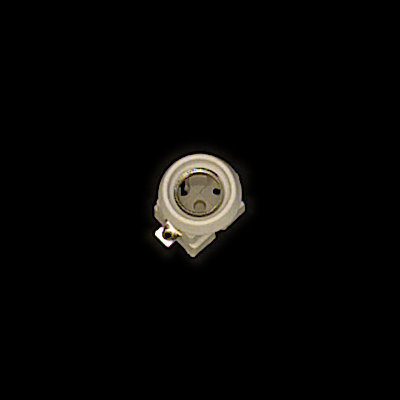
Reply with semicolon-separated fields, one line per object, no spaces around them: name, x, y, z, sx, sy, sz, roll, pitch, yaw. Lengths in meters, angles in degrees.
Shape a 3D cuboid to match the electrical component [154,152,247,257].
electrical component;0.000;0.000;0.637;0.067;0.048;0.055;-43;-14;-11
